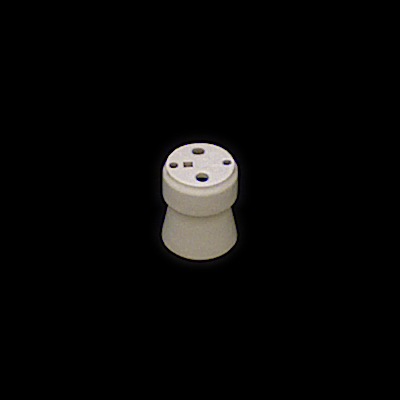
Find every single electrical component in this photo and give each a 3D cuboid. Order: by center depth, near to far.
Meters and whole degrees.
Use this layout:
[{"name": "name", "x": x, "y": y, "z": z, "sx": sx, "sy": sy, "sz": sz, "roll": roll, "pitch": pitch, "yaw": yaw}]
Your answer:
[{"name": "electrical component", "x": 0.000, "y": 0.000, "z": 0.633, "sx": 0.045, "sy": 0.055, "sz": 0.044, "roll": 1, "pitch": 42, "yaw": -1}]
